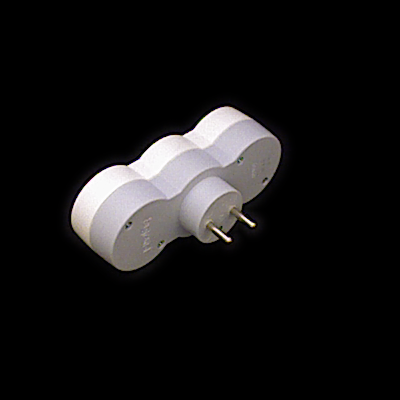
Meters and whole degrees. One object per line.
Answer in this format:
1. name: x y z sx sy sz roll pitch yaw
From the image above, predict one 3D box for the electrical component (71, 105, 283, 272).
1. electrical component: 0.000 0.000 0.635 0.138 0.052 0.073 -31 53 -31
